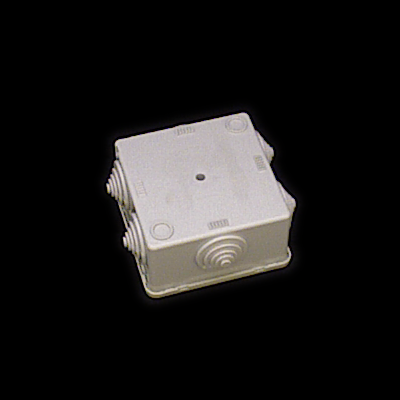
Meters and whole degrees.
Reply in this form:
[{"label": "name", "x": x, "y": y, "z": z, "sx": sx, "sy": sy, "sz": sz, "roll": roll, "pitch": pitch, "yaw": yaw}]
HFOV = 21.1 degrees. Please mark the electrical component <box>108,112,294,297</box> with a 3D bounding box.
[{"label": "electrical component", "x": 0.000, "y": 0.000, "z": 0.633, "sx": 0.100, "sy": 0.099, "sz": 0.049, "roll": -13, "pitch": -36, "yaw": -10}]
